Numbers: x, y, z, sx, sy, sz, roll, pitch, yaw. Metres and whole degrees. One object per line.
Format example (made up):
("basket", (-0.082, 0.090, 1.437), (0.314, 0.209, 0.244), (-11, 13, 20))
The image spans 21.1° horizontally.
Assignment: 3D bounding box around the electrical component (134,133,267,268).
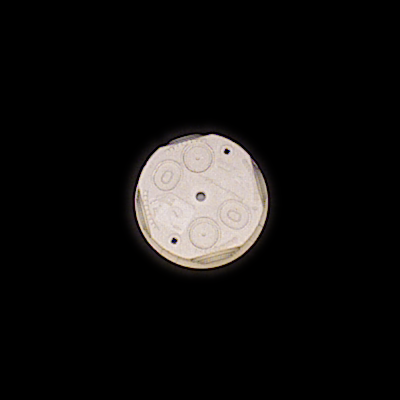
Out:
("electrical component", (0.000, 0.000, 0.633), (0.080, 0.080, 0.050), (0, -6, 1))
